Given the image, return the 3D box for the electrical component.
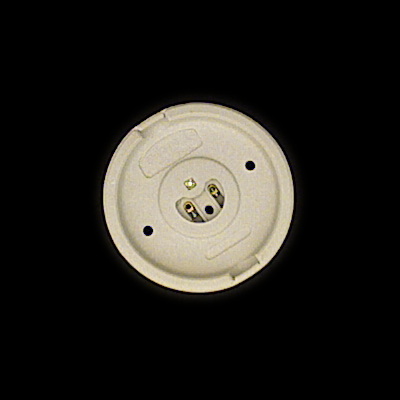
[{"bbox_3d":[0.000,0.000,0.635,0.108,0.108,0.060,0,-5,0],"label":"electrical component"}]
